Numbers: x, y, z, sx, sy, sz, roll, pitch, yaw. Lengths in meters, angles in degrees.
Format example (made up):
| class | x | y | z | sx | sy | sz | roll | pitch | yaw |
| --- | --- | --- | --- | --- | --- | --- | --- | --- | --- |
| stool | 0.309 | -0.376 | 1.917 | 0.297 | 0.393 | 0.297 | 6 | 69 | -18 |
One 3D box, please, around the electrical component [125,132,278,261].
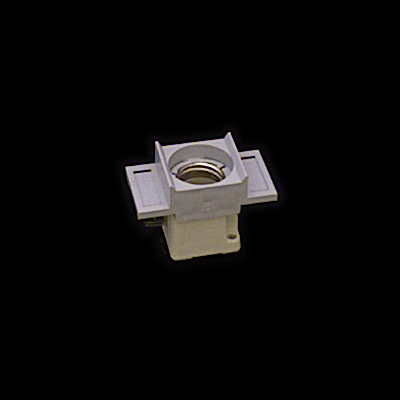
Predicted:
| class | x | y | z | sx | sy | sz | roll | pitch | yaw |
| --- | --- | --- | --- | --- | --- | --- | --- | --- | --- |
| electrical component | 0.000 | 0.000 | 0.628 | 0.081 | 0.064 | 0.041 | -8 | 43 | -10 |
